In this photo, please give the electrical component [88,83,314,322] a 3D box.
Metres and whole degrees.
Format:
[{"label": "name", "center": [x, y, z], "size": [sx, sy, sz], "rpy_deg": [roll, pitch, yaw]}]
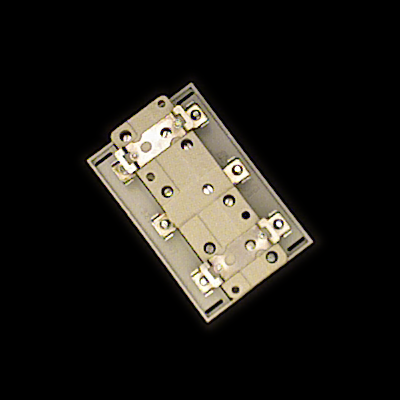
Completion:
[{"label": "electrical component", "center": [0.000, 0.000, 0.634], "size": [0.079, 0.121, 0.063], "rpy_deg": [-37, -5, -3]}]
